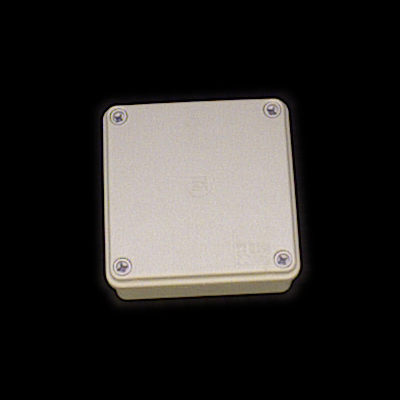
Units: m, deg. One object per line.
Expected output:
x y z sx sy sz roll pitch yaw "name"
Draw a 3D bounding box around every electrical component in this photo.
0.000 0.000 0.630 0.109 0.109 0.056 -3 -17 -1 "electrical component"
